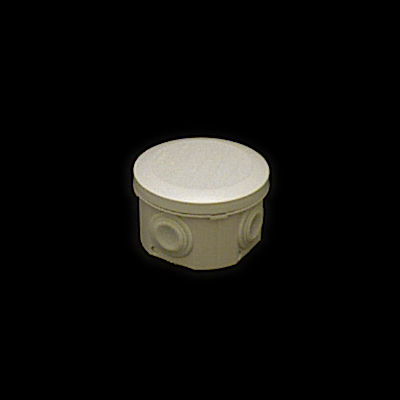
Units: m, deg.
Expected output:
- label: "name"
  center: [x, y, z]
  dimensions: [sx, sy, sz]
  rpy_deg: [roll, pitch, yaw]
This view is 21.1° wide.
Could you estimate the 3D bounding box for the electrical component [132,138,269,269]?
- label: "electrical component"
  center: [0.000, 0.000, 0.639]
  dimensions: [0.080, 0.051, 0.079]
  rpy_deg: [1, 31, 0]
